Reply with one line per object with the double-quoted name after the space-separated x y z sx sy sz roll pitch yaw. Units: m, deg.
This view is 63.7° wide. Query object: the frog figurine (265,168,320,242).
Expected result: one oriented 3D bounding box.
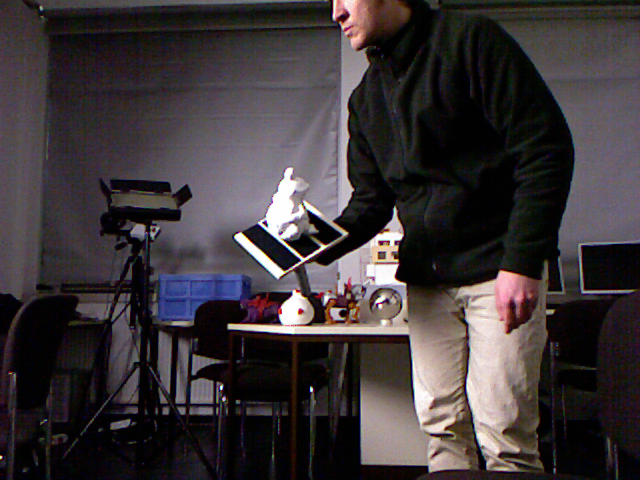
-0.074 -0.080 1.194 0.123 0.156 0.140 -19 44 -8 "frog figurine"
